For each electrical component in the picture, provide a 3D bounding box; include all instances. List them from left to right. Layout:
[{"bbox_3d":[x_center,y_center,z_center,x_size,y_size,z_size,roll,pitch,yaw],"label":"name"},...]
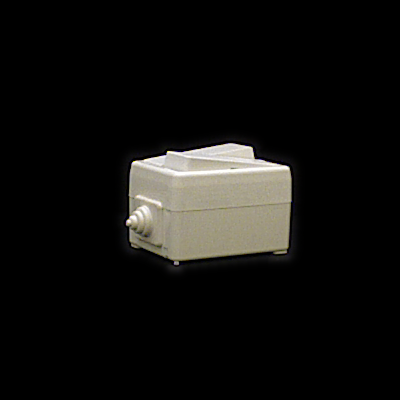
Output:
[{"bbox_3d":[0.000,0.000,0.643,0.096,0.061,0.061,-4,12,-29],"label":"electrical component"}]
